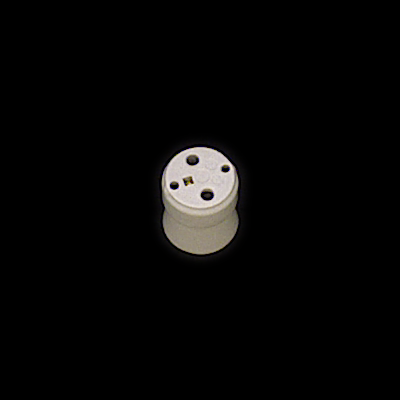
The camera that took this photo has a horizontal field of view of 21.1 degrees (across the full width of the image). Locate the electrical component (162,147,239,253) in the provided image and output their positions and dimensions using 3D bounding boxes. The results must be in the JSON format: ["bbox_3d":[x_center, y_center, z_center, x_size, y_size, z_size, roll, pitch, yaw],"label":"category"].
[{"bbox_3d":[0.000,0.000,0.629,0.045,0.045,0.055,0,-27,-1],"label":"electrical component"}]
